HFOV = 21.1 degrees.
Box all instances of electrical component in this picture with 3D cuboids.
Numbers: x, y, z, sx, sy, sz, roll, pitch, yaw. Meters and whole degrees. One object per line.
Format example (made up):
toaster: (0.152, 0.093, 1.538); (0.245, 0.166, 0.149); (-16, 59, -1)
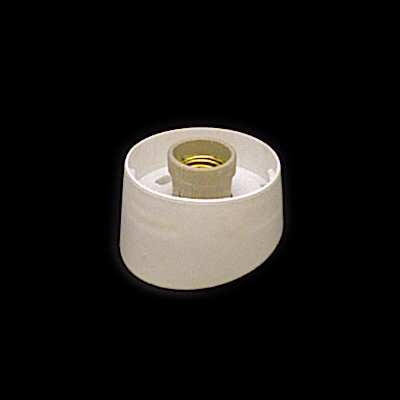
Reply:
electrical component: (0.000, 0.000, 0.634); (0.099, 0.065, 0.097); (1, 32, 0)
